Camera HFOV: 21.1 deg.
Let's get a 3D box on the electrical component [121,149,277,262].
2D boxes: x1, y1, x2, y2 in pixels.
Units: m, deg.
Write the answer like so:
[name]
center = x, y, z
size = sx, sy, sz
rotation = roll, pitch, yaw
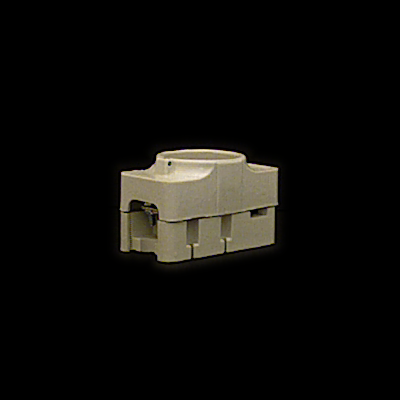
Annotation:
[electrical component]
center = 0.000, 0.000, 0.652
size = 0.090, 0.056, 0.049
rotation = -9, 15, -42
